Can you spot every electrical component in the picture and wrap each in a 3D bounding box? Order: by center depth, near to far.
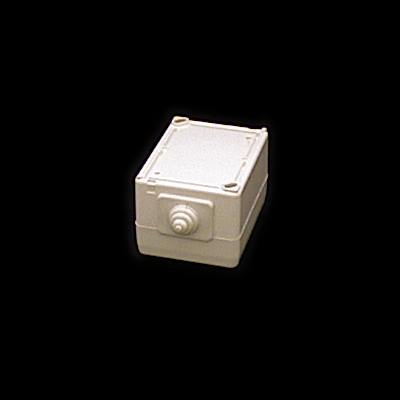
[{"bbox_3d":[0.000,0.000,0.634,0.061,0.061,0.095,9,33,12],"label":"electrical component"}]
